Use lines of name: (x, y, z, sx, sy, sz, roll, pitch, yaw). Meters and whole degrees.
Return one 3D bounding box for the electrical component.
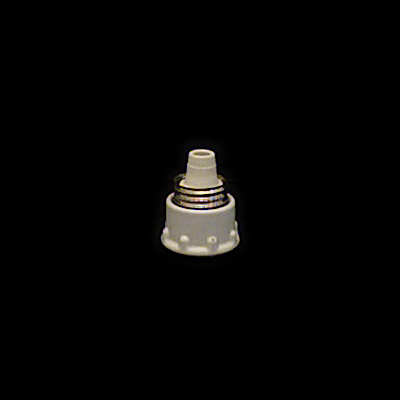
electrical component: (0.000, 0.000, 0.647, 0.048, 0.063, 0.047, 2, 21, 0)
